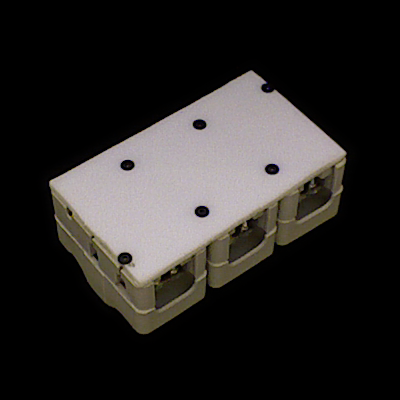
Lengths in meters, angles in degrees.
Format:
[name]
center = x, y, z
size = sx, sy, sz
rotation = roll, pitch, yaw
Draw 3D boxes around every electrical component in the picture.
[electrical component]
center = 0.000, 0.000, 0.635
size = 0.149, 0.088, 0.063
rotation = -31, -31, -22
